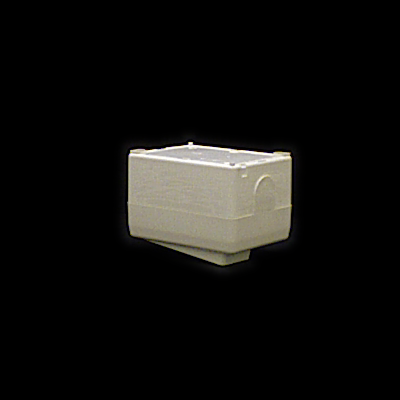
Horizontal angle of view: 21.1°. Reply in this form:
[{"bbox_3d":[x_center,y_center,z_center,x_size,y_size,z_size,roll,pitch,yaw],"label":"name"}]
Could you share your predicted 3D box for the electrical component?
[{"bbox_3d":[0.000,0.000,0.647,0.095,0.061,0.062,9,14,36],"label":"electrical component"}]
